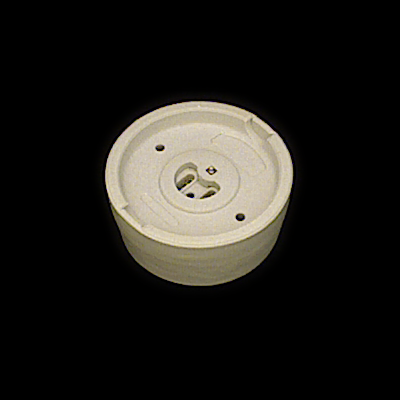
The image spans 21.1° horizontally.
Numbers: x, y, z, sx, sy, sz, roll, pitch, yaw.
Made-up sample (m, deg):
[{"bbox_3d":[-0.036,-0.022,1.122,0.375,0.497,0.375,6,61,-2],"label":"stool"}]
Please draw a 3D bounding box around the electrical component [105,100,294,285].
[{"bbox_3d":[0.000,0.000,0.638,0.108,0.107,0.061,0,-37,0],"label":"electrical component"}]
